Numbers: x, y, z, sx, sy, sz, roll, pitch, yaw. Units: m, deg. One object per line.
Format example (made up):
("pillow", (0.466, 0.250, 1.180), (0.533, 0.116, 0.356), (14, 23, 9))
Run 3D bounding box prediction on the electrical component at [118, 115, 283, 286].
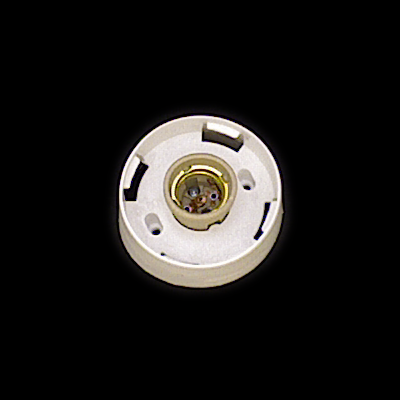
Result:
("electrical component", (0.000, 0.000, 0.624), (0.099, 0.099, 0.064), (0, -17, 0))
